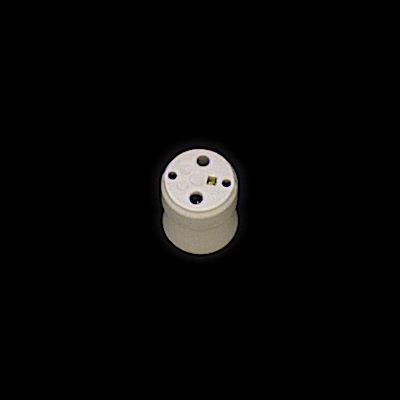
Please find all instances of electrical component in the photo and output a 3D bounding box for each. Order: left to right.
[{"bbox_3d":[0.000,0.000,0.628,0.045,0.045,0.055,0,-27,0],"label":"electrical component"}]
